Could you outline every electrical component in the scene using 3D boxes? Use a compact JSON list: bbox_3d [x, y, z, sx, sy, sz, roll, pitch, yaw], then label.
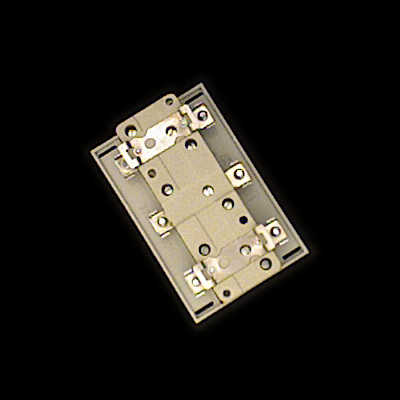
[{"bbox_3d":[0.000,0.000,0.634,0.079,0.121,0.063,-32,-5,-2],"label":"electrical component"}]
